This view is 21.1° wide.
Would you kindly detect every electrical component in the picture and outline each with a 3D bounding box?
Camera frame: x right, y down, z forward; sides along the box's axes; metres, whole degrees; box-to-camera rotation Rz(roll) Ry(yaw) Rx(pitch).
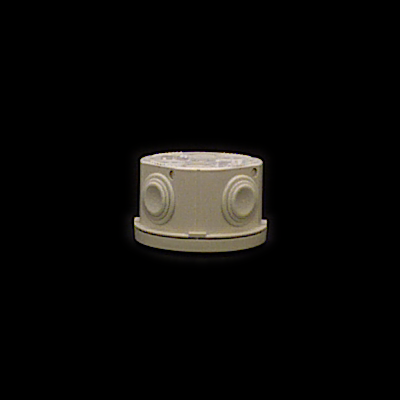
[{"bbox_3d":[0.000,0.000,0.645,0.080,0.051,0.079,1,11,0],"label":"electrical component"}]
